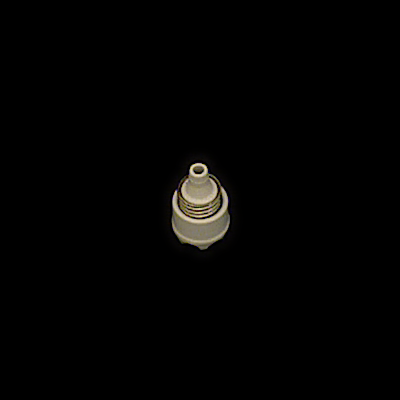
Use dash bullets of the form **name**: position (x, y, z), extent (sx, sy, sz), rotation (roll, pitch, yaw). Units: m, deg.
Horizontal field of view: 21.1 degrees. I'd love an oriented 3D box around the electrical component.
- **electrical component**: position (0.000, 0.000, 0.639), extent (0.035, 0.035, 0.062), rotation (0, -37, 2)
